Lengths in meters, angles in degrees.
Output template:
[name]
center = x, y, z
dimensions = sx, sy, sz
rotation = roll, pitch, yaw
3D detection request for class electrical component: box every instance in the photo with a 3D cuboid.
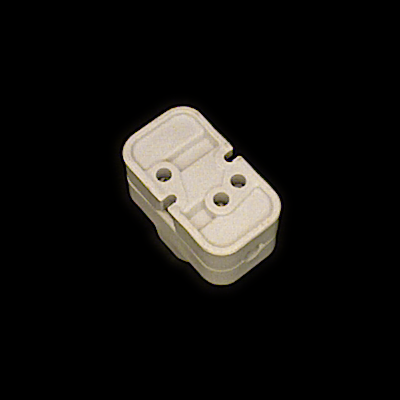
[electrical component]
center = 0.000, 0.000, 0.636
dimensions = 0.054, 0.094, 0.059
rotation = -37, -22, -16
